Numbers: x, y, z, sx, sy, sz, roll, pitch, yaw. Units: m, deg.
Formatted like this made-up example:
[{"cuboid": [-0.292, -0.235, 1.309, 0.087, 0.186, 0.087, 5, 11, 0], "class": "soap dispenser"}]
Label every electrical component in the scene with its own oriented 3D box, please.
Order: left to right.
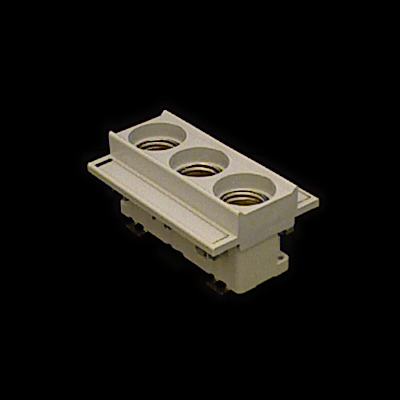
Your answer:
[{"cuboid": [0.000, 0.000, 0.645, 0.078, 0.064, 0.120, -24, 40, -31], "class": "electrical component"}]
